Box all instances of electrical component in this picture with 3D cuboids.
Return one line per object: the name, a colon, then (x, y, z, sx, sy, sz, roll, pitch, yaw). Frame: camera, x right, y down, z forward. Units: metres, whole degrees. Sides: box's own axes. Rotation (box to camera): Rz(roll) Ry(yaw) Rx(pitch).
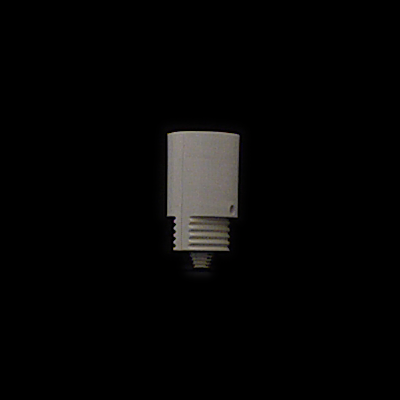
electrical component: (0.000, 0.000, 0.652, 0.043, 0.081, 0.043, 2, 1, 0)
